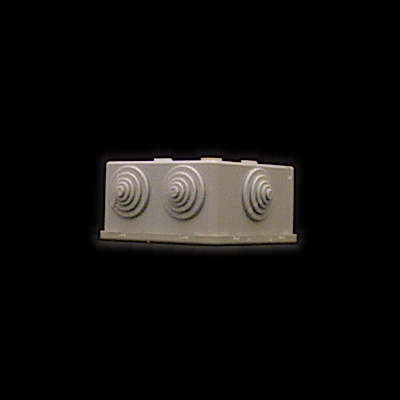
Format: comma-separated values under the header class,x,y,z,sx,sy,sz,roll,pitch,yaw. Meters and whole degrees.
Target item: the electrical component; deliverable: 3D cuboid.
class,x,y,z,sx,sy,sz,roll,pitch,yaw
electrical component,0.000,0.000,0.650,0.099,0.048,0.100,1,0,37
